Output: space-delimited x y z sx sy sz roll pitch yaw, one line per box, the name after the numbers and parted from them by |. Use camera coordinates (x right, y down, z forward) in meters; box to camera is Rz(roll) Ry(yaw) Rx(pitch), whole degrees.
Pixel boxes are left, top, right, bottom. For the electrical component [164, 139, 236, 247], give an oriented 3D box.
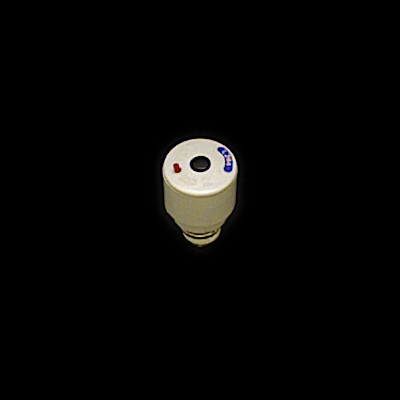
0.000 0.000 0.620 0.040 0.040 0.079 0 -37 0 | electrical component
